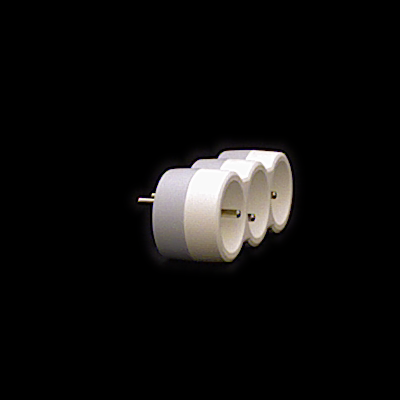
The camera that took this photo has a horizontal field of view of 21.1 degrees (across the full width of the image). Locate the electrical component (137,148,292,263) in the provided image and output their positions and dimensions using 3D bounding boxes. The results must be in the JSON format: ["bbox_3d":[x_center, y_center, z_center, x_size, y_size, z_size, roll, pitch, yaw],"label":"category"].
[{"bbox_3d":[0.000,0.000,0.642,0.073,0.052,0.137,3,11,21],"label":"electrical component"}]
